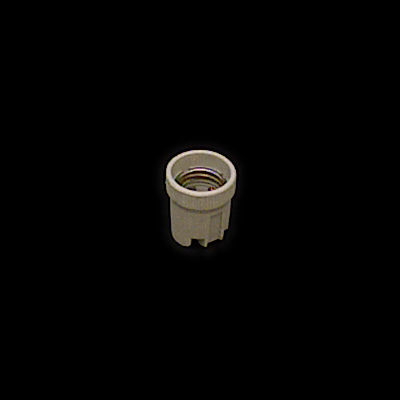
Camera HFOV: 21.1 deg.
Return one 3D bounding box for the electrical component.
[{"bbox_3d":[0.000,0.000,0.631,0.040,0.047,0.039,1,42,0],"label":"electrical component"}]
